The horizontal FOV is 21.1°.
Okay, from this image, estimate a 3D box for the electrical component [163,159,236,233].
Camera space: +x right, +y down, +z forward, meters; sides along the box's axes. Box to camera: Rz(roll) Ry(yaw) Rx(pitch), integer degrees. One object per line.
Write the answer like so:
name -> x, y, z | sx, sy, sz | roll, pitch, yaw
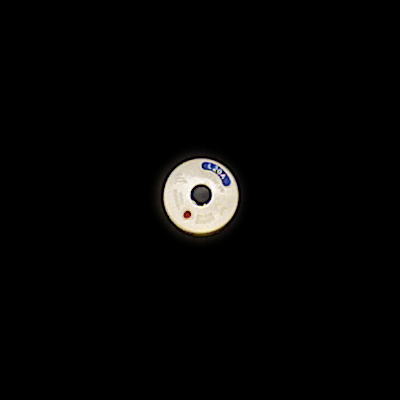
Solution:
electrical component -> 0.000, 0.000, 0.617 | 0.040, 0.040, 0.078 | 0, -5, 1
